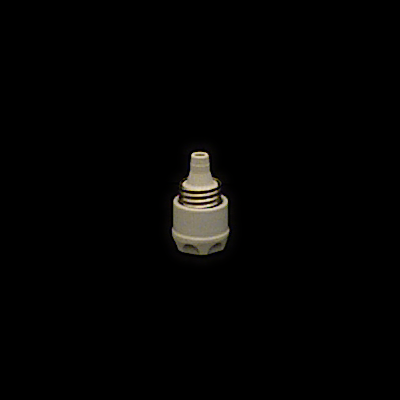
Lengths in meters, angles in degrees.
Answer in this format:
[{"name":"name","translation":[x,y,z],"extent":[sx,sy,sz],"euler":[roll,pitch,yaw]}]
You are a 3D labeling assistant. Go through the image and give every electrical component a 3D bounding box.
[{"name":"electrical component","translation":[0.000,0.000,0.651],"extent":[0.035,0.062,0.034],"euler":[-1,22,1]}]
